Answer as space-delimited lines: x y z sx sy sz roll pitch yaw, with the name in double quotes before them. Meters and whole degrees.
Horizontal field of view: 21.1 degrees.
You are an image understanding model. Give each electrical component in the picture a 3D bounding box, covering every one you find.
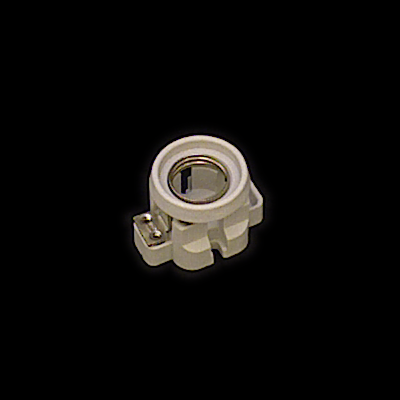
"electrical component" 0.000 0.000 0.628 0.079 0.057 0.057 -22 -34 -16
